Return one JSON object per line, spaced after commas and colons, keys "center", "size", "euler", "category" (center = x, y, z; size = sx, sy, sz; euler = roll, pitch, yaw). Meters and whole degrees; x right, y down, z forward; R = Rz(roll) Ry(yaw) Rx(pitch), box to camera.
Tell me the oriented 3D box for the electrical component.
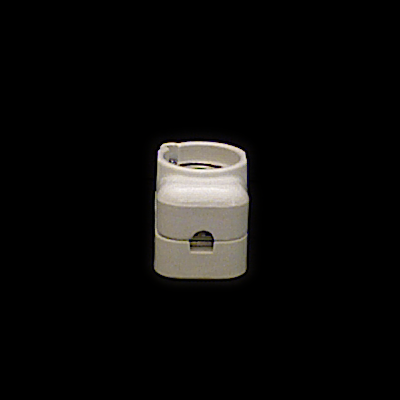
{"center": [0.000, 0.000, 0.645], "size": [0.054, 0.060, 0.094], "euler": [0, 21, -3], "category": "electrical component"}
